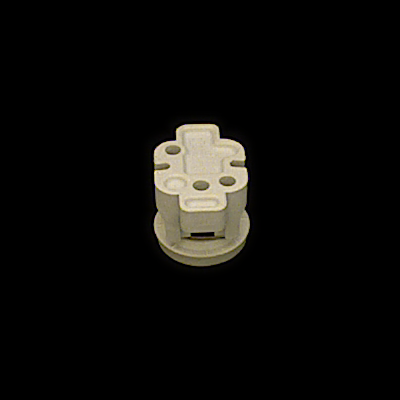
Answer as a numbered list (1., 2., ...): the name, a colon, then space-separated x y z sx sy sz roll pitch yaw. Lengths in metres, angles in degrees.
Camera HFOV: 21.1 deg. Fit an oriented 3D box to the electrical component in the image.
1. electrical component: 0.000 0.000 0.640 0.058 0.057 0.077 -3 41 -3
